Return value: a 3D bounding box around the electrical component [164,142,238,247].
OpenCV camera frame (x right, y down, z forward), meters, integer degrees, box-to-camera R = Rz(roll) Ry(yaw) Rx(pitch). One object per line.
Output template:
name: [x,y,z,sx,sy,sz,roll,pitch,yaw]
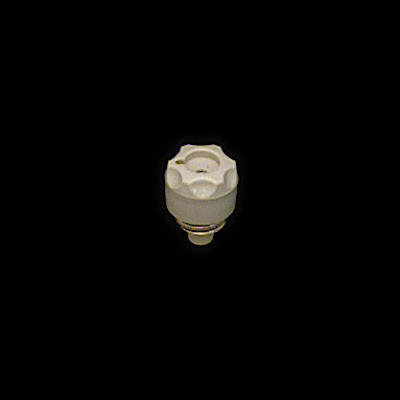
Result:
electrical component: [0.000,0.000,0.639,0.043,0.062,0.043,1,42,0]
